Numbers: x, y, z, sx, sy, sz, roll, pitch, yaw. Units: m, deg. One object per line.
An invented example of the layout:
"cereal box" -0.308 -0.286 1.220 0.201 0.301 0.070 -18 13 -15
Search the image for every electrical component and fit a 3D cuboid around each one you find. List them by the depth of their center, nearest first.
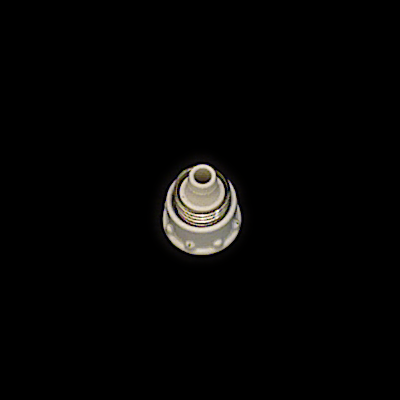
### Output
"electrical component" 0.000 0.000 0.634 0.048 0.048 0.062 0 -27 -1
